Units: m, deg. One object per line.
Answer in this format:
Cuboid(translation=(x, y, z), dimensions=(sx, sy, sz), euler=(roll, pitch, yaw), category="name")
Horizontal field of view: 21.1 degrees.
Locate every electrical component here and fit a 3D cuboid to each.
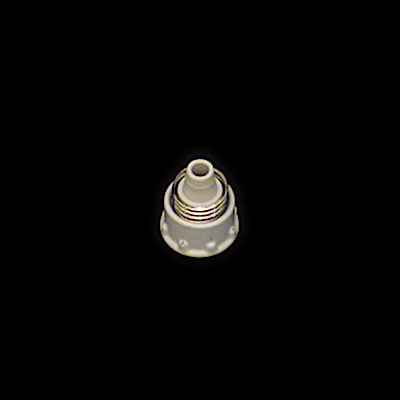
Cuboid(translation=(0.000, 0.000, 0.635), dimensions=(0.048, 0.048, 0.062), euler=(0, -36, -1), category="electrical component")
